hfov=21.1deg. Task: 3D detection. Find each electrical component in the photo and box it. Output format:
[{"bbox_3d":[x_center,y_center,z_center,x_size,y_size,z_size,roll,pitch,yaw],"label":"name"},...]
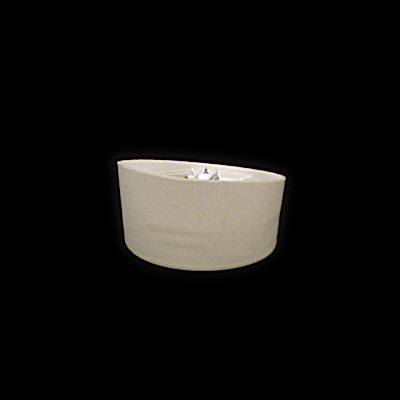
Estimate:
[{"bbox_3d":[0.000,0.000,0.637,0.099,0.065,0.097,1,22,0],"label":"electrical component"}]
